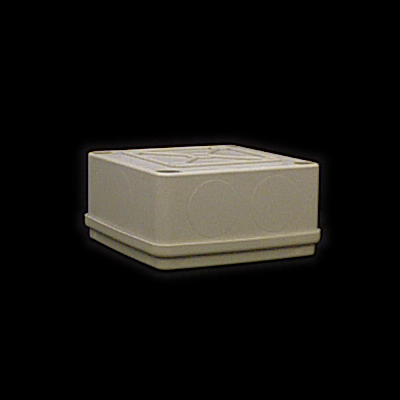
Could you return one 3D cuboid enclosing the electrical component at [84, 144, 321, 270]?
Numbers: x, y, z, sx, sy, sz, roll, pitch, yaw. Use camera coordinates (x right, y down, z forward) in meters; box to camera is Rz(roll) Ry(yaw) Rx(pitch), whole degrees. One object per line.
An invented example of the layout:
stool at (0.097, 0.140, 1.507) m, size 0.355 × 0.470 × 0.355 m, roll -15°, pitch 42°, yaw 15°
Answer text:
electrical component at (0.000, 0.000, 0.643) m, size 0.109 × 0.056 × 0.107 m, roll -5°, pitch 11°, yaw -29°
